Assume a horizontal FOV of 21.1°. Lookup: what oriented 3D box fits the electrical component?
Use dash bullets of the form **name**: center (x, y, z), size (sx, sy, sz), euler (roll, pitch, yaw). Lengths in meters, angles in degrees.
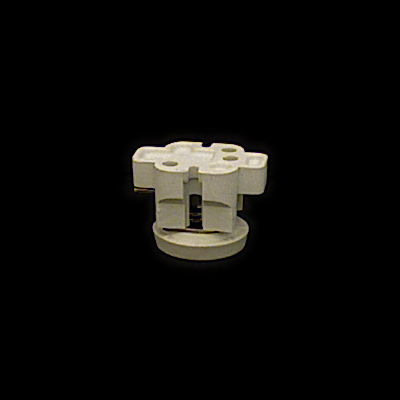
- **electrical component**: center (0.000, 0.000, 0.645), size (0.078, 0.057, 0.057), euler (2, 23, 7)
